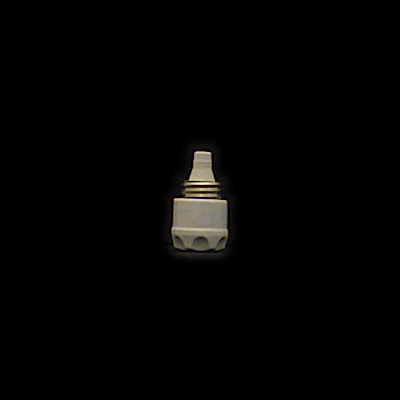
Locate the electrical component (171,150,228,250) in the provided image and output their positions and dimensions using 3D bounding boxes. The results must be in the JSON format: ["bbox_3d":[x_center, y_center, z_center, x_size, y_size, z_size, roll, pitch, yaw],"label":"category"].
[{"bbox_3d":[0.000,0.000,0.664,0.035,0.061,0.035,3,3,0],"label":"electrical component"}]
